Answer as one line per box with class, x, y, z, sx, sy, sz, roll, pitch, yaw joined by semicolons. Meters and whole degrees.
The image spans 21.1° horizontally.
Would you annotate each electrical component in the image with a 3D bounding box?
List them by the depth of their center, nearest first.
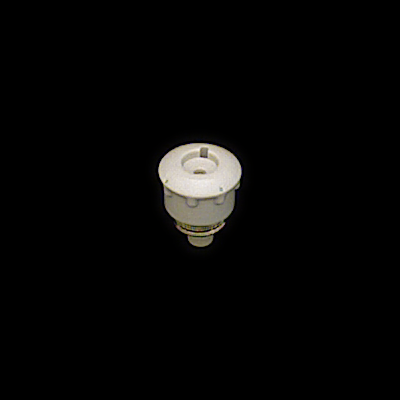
electrical component;0.000;0.000;0.638;0.048;0.062;0.047;1;43;0
